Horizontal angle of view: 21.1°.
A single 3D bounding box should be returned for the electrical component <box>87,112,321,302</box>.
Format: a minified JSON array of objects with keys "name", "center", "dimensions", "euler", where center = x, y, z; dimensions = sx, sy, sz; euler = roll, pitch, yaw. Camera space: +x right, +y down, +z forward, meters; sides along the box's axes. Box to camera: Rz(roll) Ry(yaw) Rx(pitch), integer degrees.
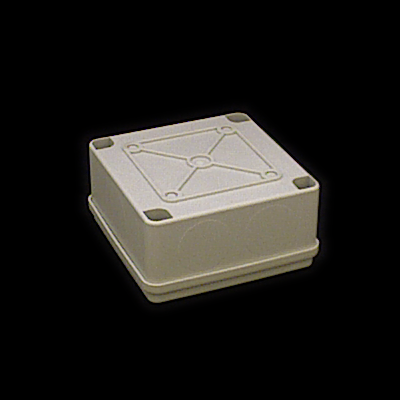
[{"name":"electrical component","center":[0.000,0.000,0.634],"dimensions":[0.109,0.057,0.107],"euler":[-12,33,-20]}]
